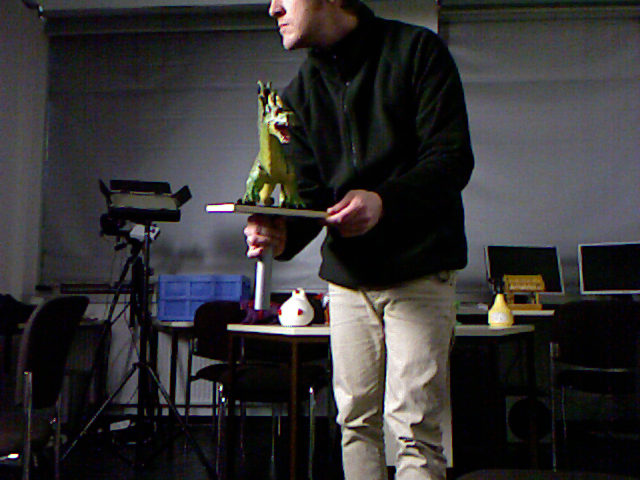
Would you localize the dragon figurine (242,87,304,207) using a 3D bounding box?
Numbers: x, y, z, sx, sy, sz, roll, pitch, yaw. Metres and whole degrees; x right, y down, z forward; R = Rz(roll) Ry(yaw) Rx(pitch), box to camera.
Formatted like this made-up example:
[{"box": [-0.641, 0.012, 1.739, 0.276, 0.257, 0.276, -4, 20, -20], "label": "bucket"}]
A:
[{"box": [-0.099, -0.188, 1.058, 0.122, 0.242, 0.411, 0, 3, -11], "label": "dragon figurine"}]
